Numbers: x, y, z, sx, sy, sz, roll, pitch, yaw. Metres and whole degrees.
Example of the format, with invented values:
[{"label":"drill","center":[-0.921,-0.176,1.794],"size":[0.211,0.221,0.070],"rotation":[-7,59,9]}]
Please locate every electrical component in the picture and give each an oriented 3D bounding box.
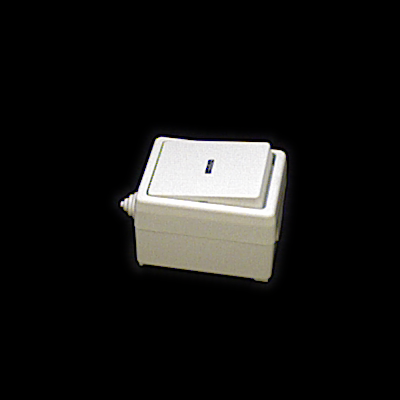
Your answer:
[{"label":"electrical component","center":[0.000,0.000,0.631],"size":[0.096,0.061,0.061],"rotation":[7,42,7]}]
